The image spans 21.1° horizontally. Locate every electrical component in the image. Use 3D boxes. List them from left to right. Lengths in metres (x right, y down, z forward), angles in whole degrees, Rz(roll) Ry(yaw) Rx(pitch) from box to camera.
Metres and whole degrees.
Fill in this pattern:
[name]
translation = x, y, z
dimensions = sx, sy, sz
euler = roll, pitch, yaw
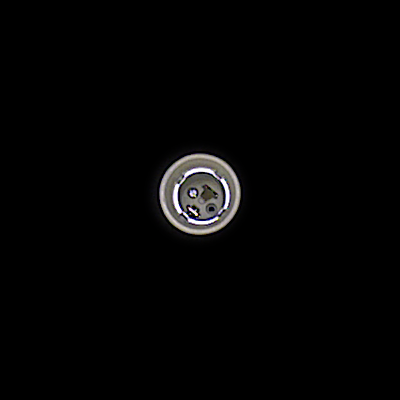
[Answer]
[electrical component]
translation = 0.000, 0.000, 0.625
dimensions = 0.044, 0.044, 0.065
euler = 0, -7, 2
